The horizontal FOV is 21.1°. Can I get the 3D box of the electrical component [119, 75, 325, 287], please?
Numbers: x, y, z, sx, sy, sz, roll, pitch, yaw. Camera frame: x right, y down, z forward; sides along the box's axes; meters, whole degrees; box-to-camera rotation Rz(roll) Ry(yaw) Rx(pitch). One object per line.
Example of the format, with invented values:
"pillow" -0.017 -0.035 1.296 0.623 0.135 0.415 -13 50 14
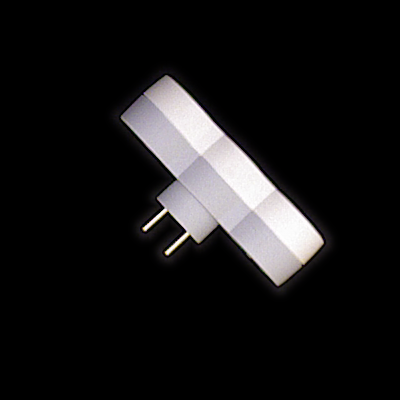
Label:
"electrical component" 0.000 0.000 0.631 0.074 0.138 0.052 -43 -4 -3
